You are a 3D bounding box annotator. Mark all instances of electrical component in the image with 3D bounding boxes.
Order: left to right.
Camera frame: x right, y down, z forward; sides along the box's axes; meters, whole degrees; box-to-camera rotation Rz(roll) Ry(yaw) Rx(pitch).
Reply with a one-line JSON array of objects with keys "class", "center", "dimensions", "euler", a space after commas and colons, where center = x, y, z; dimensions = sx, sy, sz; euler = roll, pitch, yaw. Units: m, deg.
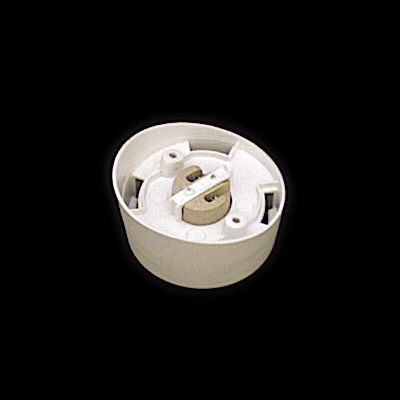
[{"class": "electrical component", "center": [0.000, 0.000, 0.625], "dimensions": [0.099, 0.098, 0.064], "euler": [0, -37, 0]}]
